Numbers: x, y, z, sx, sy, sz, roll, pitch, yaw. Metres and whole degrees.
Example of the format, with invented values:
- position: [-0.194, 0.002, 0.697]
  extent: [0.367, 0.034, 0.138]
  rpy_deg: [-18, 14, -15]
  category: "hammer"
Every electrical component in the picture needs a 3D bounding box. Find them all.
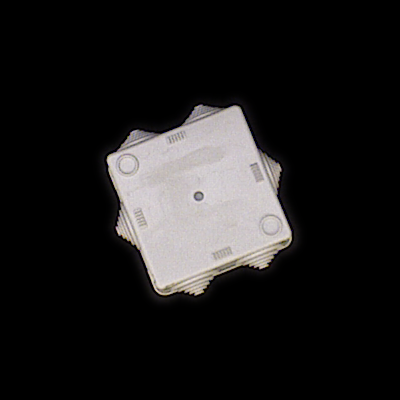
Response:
- position: [0.000, 0.000, 0.632]
  extent: [0.100, 0.100, 0.048]
  rpy_deg: [-22, -6, -3]
  category: "electrical component"
